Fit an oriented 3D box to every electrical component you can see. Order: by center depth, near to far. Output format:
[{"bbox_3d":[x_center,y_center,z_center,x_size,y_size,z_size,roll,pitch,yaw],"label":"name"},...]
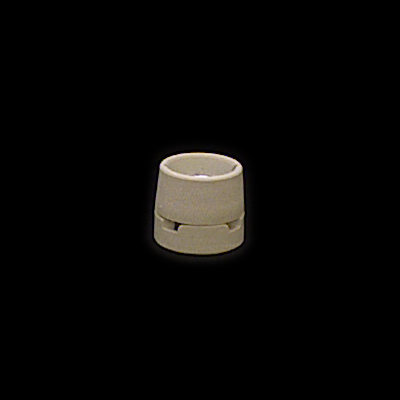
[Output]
[{"bbox_3d":[0.000,0.000,0.642,0.055,0.047,0.055,2,21,-1],"label":"electrical component"}]
